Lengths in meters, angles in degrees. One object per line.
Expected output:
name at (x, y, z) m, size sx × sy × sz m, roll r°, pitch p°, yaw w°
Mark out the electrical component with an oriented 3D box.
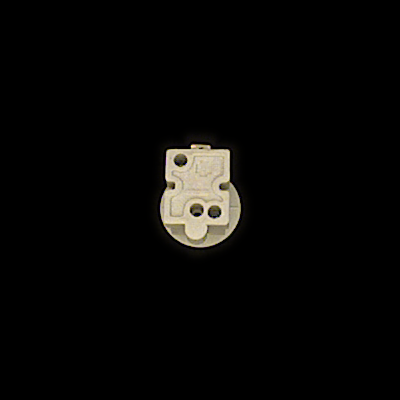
electrical component at (0.000, 0.000, 0.637) m, size 0.048 × 0.067 × 0.055 m, roll 1°, pitch -17°, yaw 2°
